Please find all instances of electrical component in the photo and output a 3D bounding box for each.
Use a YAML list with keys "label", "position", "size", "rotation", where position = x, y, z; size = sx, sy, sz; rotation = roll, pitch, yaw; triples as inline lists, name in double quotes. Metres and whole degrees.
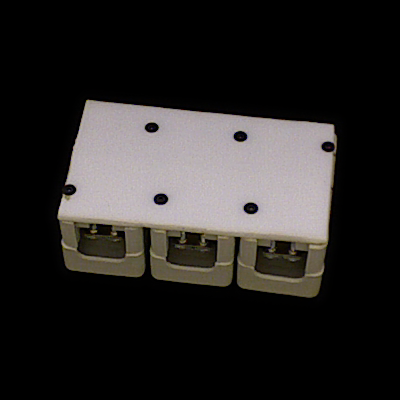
- label: "electrical component"
  position: [0.000, 0.000, 0.634]
  size: [0.150, 0.088, 0.062]
  rotation: [6, -37, 4]
